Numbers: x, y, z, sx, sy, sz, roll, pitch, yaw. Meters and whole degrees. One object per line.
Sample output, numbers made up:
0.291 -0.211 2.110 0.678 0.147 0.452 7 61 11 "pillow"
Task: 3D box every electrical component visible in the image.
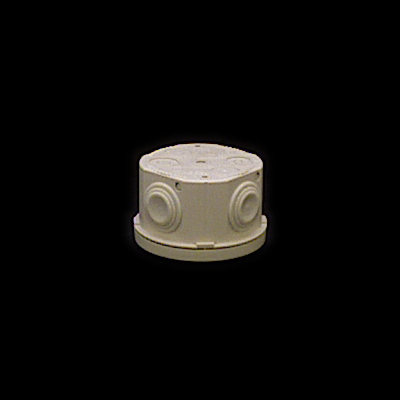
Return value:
0.000 0.000 0.642 0.080 0.051 0.079 1 20 0 "electrical component"
